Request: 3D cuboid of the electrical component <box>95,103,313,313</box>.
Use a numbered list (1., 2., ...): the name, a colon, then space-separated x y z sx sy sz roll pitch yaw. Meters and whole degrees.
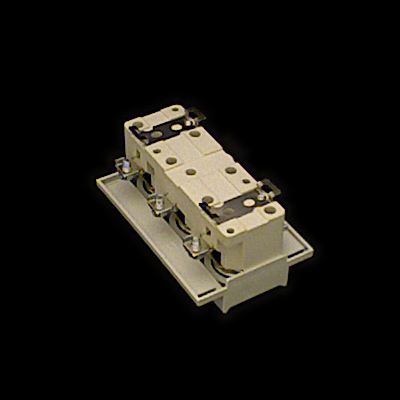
1. electrical component: 0.000 0.000 0.640 0.079 0.063 0.120 -22 47 -24
